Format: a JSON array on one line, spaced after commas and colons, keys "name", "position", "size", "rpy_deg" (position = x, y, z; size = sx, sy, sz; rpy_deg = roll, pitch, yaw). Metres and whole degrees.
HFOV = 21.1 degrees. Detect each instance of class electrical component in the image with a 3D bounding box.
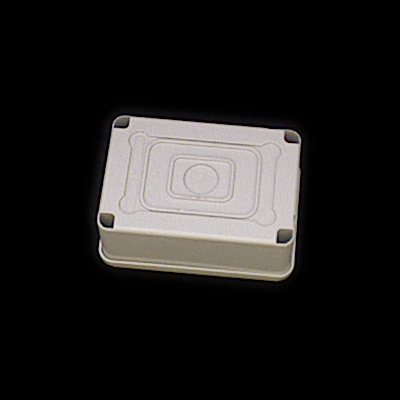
[{"name": "electrical component", "position": [0.000, 0.000, 0.628], "size": [0.113, 0.078, 0.057], "rpy_deg": [5, -27, 3]}]
